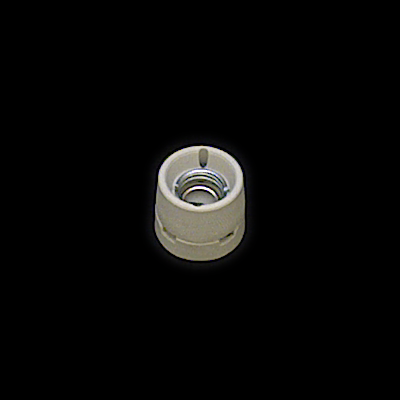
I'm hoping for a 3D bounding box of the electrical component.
[{"bbox_3d":[0.000,0.000,0.635,0.055,0.055,0.047,0,-38,-1],"label":"electrical component"}]
